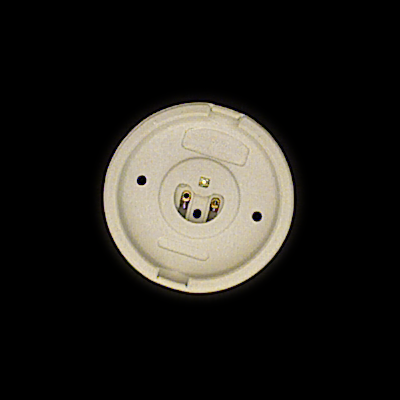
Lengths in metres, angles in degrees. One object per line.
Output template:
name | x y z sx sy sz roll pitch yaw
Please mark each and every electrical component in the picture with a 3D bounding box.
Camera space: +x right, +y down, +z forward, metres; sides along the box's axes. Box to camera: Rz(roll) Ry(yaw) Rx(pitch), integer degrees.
electrical component | 0.000 0.000 0.635 0.108 0.108 0.060 0 -5 0
